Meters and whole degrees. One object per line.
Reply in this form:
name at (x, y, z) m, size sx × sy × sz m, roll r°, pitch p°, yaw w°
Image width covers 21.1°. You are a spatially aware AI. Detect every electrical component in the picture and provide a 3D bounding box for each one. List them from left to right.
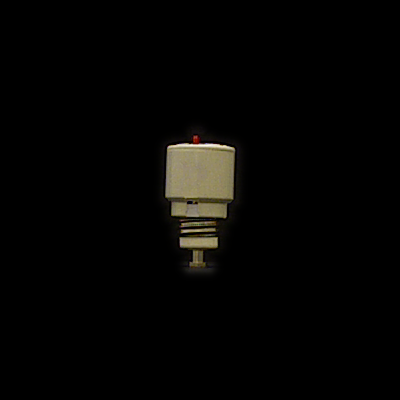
electrical component at (0.000, 0.000, 0.647) m, size 0.040 × 0.078 × 0.040 m, roll 1°, pitch 2°, yaw 0°
